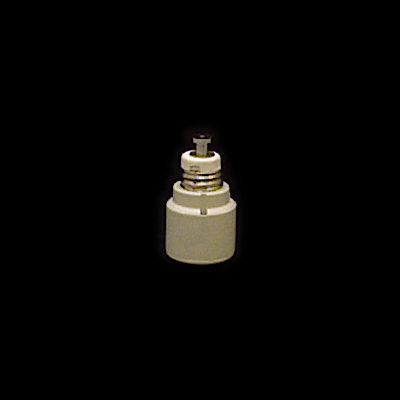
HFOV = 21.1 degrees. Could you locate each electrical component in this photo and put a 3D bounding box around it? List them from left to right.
[{"bbox_3d":[0.000,0.000,0.634,0.040,0.079,0.039,0,20,0],"label":"electrical component"}]
